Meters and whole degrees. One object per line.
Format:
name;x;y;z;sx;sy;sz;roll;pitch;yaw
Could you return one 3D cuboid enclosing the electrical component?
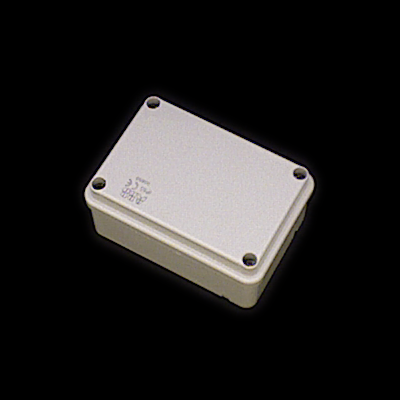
electrical component;0.000;0.000;0.626;0.113;0.078;0.057;26;-24;12
